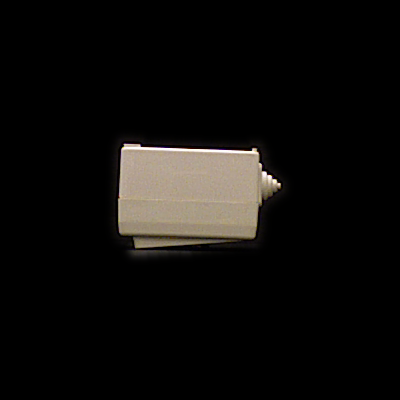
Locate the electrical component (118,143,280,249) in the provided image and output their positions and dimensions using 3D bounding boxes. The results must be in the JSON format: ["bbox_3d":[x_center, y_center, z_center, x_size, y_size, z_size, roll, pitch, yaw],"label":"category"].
[{"bbox_3d":[0.000,0.000,0.647,0.096,0.061,0.061,2,0,-1],"label":"electrical component"}]
